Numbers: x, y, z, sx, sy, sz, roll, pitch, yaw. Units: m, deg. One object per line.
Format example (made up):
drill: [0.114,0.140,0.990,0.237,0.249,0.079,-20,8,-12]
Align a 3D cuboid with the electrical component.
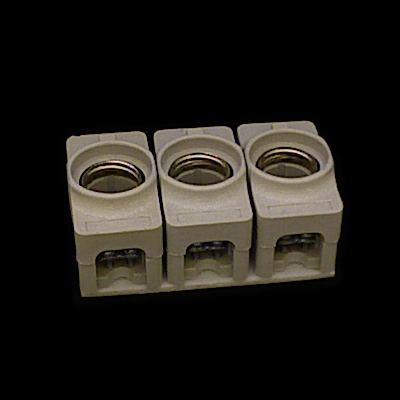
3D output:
electrical component: [0.000,0.000,0.637,0.150,0.063,0.087,-4,41,-7]
